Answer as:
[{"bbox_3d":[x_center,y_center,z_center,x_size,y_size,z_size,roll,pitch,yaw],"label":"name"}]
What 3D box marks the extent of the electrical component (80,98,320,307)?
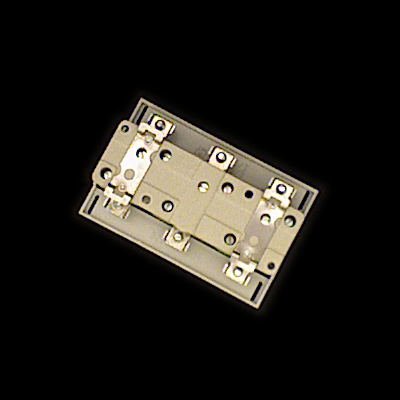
[{"bbox_3d":[0.000,0.000,0.634,0.121,0.079,0.063,28,-4,3],"label":"electrical component"}]
